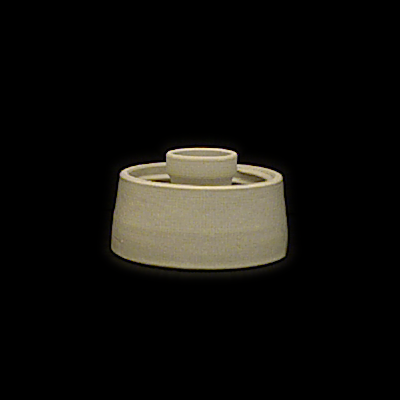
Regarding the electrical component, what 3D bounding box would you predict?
[{"bbox_3d":[0.000,0.000,0.652,0.108,0.061,0.107,1,11,0],"label":"electrical component"}]
